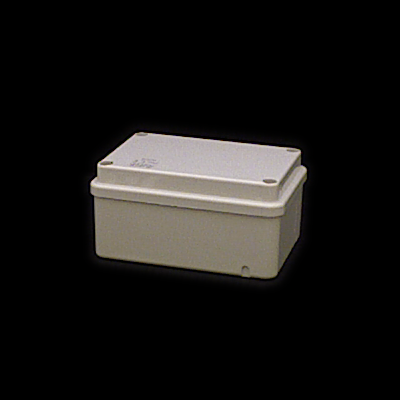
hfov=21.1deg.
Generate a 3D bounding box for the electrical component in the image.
[{"bbox_3d":[0.000,0.000,0.637,0.113,0.058,0.077,7,22,15],"label":"electrical component"}]
